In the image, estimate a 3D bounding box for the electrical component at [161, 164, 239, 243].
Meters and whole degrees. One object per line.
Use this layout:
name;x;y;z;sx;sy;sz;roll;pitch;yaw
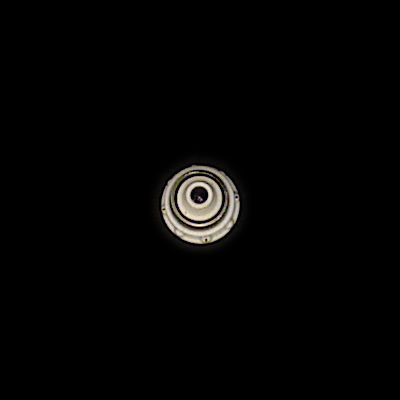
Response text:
electrical component;0.000;0.000;0.635;0.048;0.048;0.061;0;-6;0
